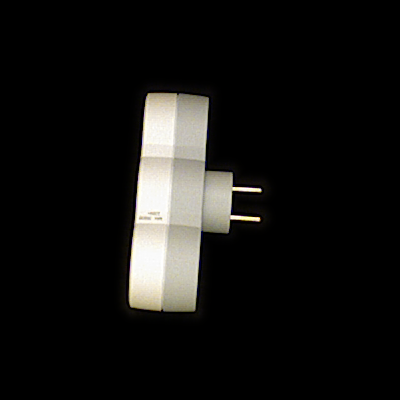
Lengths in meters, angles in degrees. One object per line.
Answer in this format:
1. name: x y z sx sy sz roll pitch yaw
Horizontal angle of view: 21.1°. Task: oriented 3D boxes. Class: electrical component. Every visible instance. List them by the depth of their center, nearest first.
1. electrical component: 0.000 0.000 0.637 0.074 0.138 0.052 4 -27 0
